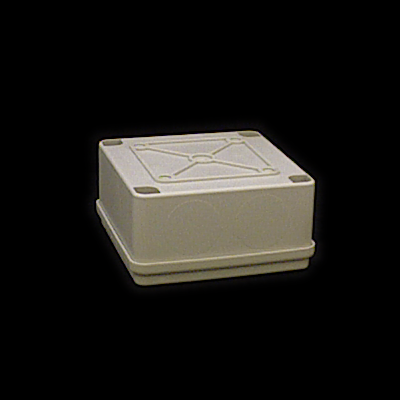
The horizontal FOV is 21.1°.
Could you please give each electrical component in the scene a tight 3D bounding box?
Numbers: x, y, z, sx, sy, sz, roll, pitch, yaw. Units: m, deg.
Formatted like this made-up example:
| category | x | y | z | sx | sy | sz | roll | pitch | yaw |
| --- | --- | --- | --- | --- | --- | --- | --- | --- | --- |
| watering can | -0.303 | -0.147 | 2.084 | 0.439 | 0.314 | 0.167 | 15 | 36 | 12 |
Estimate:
| category | x | y | z | sx | sy | sz | roll | pitch | yaw |
| --- | --- | --- | --- | --- | --- | --- | --- | --- | --- |
| electrical component | 0.000 | 0.000 | 0.639 | 0.109 | 0.057 | 0.107 | -5 | 22 | -16 |
